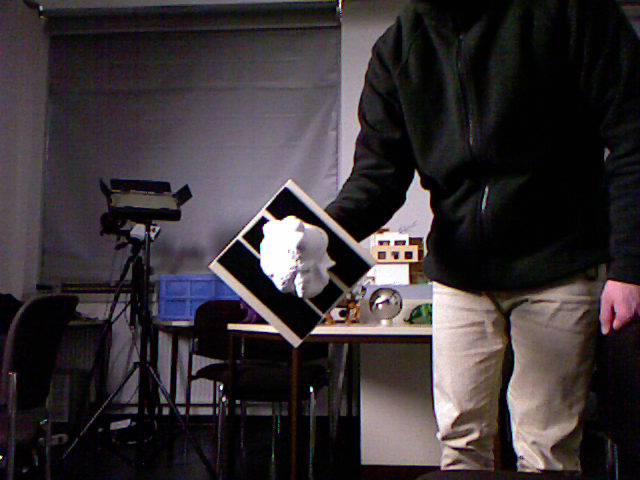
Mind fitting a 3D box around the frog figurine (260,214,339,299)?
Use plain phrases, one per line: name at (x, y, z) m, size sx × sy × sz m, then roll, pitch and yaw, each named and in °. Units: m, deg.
frog figurine at (-0.038, 0.026, 0.790) m, size 0.123 × 0.138 × 0.160 m, roll -25°, pitch -1°, yaw 4°
